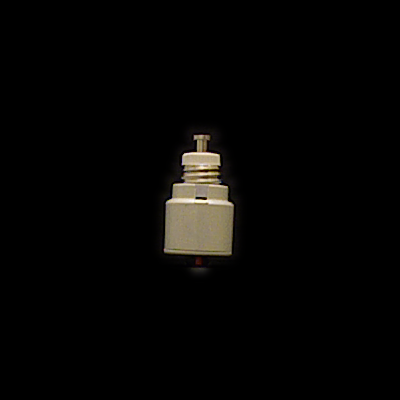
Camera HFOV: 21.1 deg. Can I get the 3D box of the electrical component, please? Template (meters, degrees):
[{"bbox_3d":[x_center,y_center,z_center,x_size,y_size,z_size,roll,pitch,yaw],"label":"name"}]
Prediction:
[{"bbox_3d":[0.000,0.000,0.649,0.040,0.078,0.040,2,1,0],"label":"electrical component"}]
